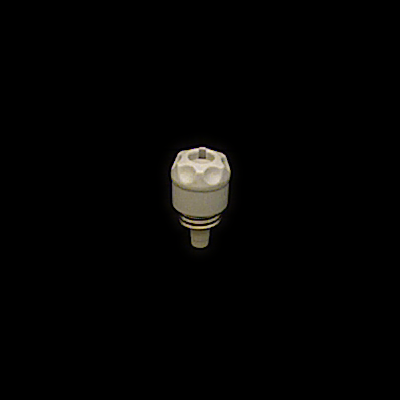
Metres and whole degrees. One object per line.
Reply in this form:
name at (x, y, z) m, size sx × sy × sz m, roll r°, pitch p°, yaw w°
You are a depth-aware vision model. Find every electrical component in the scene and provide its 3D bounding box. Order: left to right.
electrical component at (0.000, 0.000, 0.643) m, size 0.035 × 0.062 × 0.034 m, roll 1°, pitch 32°, yaw 0°
